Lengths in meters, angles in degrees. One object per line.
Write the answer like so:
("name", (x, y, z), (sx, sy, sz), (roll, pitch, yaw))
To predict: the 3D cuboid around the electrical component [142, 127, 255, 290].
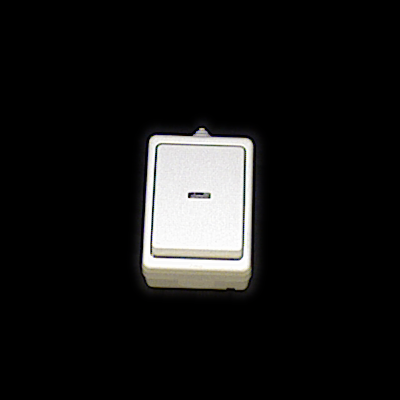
("electrical component", (0.000, 0.000, 0.626), (0.062, 0.096, 0.060), (2, -17, 0))
